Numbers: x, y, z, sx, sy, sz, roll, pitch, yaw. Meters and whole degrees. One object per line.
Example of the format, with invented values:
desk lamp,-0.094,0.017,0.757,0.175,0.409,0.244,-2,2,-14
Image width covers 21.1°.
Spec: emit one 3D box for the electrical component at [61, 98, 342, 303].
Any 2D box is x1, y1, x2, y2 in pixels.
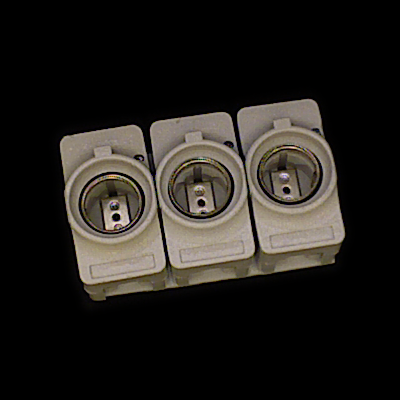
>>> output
electrical component,0.000,0.000,0.632,0.150,0.089,0.062,-9,-17,-3
